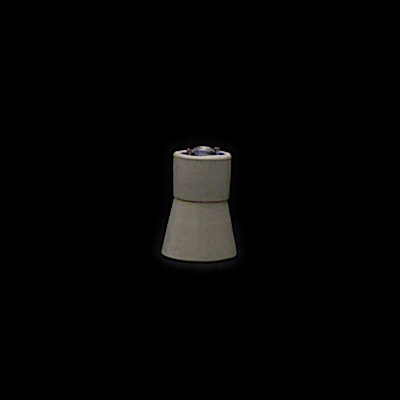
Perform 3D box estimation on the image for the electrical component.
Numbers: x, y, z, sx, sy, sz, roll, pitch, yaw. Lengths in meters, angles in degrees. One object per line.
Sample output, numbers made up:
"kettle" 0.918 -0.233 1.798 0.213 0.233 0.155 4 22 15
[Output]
"electrical component" 0.000 0.000 0.642 0.044 0.066 0.044 2 12 0
